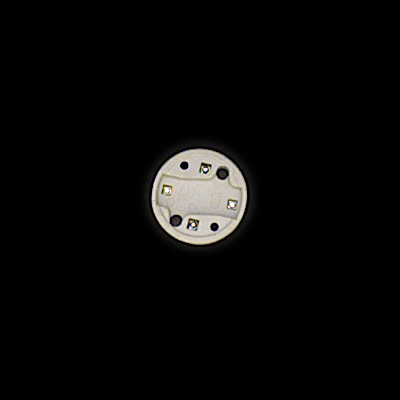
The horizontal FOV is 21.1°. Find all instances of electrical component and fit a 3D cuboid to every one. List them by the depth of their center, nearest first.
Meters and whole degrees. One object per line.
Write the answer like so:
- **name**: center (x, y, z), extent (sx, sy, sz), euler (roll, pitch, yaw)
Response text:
- **electrical component**: center (0.000, 0.000, 0.636), extent (0.055, 0.056, 0.047), euler (0, -7, 0)
